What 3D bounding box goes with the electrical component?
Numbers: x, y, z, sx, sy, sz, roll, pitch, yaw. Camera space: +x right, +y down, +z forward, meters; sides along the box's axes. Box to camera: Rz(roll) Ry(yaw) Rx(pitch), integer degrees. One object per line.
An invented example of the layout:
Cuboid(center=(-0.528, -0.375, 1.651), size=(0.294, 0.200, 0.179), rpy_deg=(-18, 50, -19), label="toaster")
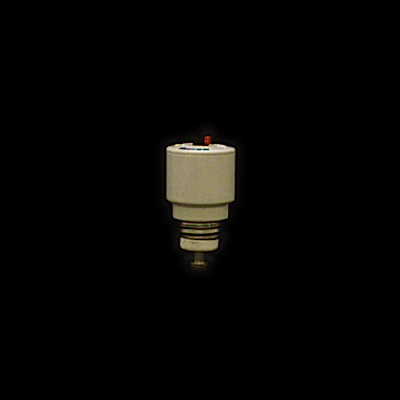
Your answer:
Cuboid(center=(0.000, 0.000, 0.644), size=(0.040, 0.079, 0.040), rpy_deg=(1, 11, 0), label="electrical component")
